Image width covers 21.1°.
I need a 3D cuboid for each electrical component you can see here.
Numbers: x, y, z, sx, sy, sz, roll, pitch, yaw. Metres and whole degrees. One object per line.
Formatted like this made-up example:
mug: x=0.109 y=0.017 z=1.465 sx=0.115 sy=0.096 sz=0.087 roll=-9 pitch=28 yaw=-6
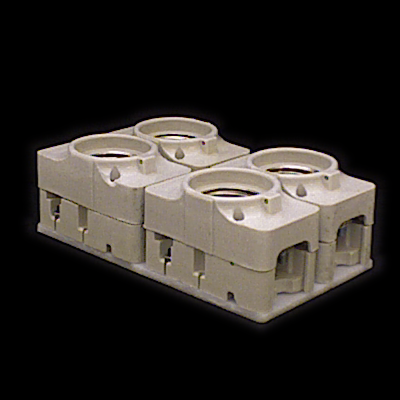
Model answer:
electrical component: x=0.000 y=0.000 z=0.639 sx=0.185 sy=0.061 sz=0.105 roll=19 pitch=27 yaw=39
